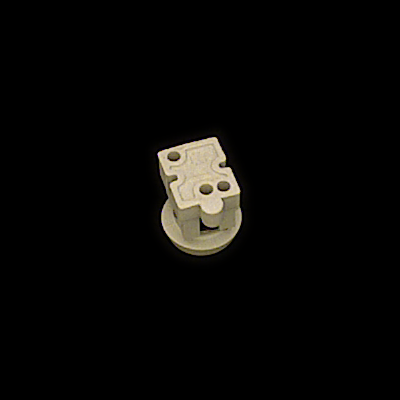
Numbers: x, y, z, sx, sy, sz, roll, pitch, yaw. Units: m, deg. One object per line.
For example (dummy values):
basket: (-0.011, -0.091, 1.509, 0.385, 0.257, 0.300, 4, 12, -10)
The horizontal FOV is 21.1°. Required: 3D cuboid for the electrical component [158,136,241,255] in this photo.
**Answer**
electrical component: (0.000, 0.000, 0.638, 0.048, 0.066, 0.055, -15, -36, -10)
